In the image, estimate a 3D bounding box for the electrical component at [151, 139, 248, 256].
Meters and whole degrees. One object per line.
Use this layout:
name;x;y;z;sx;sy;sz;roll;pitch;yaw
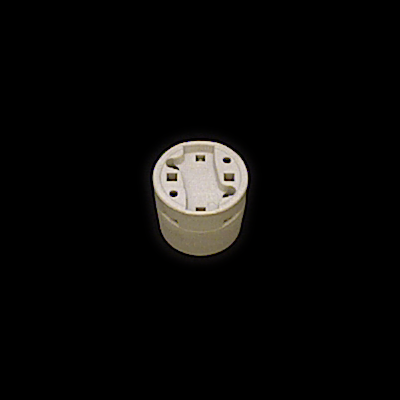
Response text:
electrical component;0.000;0.000;0.634;0.055;0.055;0.047;0;-38;0
